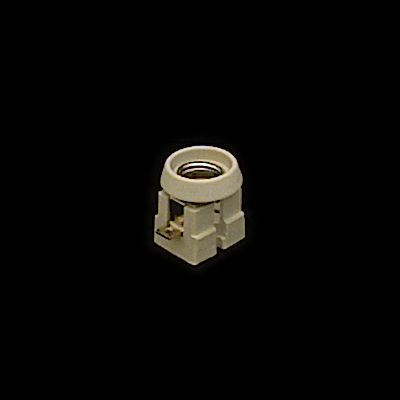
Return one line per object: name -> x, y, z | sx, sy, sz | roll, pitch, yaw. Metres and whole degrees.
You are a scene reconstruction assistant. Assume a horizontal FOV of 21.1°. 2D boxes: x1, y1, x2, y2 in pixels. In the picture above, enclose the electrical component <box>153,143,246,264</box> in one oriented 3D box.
electrical component -> 0.000, 0.000, 0.641 | 0.048, 0.056, 0.066 | 25, 39, 36
